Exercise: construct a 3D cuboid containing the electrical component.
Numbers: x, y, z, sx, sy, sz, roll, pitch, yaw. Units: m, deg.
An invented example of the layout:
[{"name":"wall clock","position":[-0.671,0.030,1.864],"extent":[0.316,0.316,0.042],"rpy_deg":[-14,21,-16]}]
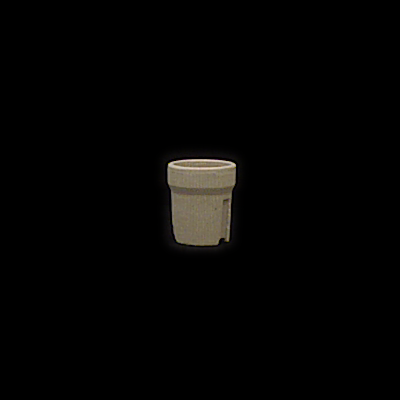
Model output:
[{"name":"electrical component","position":[0.000,0.000,0.646],"extent":[0.040,0.046,0.040],"rpy_deg":[1,11,0]}]
